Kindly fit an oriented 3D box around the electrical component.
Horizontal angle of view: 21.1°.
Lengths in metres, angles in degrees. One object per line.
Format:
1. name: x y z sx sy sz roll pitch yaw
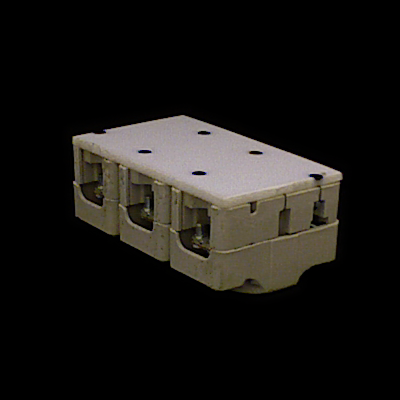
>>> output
1. electrical component: 0.000 0.000 0.646 0.089 0.063 0.147 -14 25 -36
